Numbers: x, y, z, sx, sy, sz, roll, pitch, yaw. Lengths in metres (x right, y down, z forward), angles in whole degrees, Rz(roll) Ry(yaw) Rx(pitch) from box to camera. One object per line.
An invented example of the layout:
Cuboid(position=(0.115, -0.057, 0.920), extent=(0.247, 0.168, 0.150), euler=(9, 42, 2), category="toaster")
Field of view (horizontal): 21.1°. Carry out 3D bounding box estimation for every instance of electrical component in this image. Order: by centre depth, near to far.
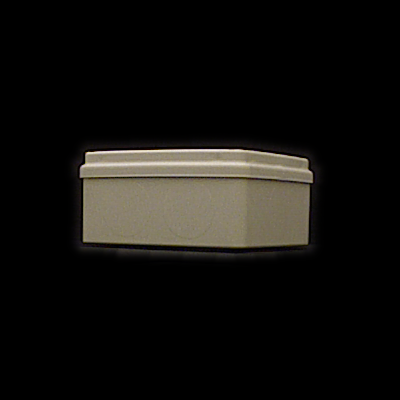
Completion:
Cuboid(position=(0.000, 0.000, 0.649), extent=(0.108, 0.056, 0.109), euler=(1, 0, 27), category="electrical component")
